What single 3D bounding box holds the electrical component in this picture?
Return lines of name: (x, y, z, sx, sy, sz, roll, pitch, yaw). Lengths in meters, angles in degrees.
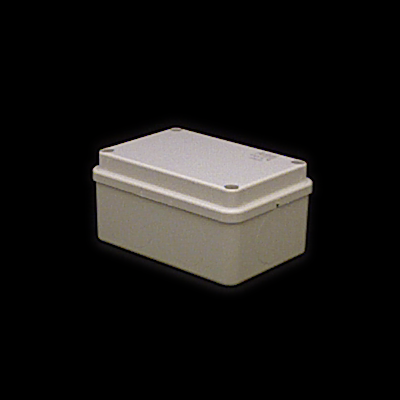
electrical component: (0.000, 0.000, 0.641, 0.112, 0.058, 0.078, 18, 26, 37)
